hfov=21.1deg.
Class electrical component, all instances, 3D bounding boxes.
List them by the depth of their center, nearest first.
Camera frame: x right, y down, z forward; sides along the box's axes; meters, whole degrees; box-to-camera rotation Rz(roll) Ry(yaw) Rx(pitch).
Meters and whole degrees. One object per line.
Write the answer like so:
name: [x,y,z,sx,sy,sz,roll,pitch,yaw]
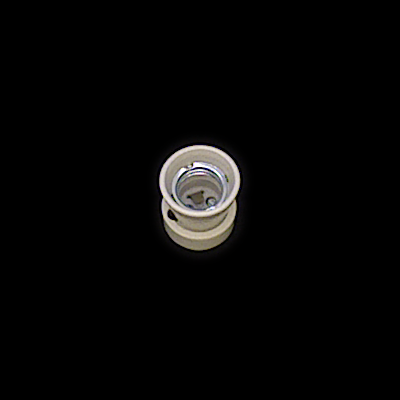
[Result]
electrical component: [0.000,0.000,0.628,0.045,0.045,0.055,0,-26,0]
